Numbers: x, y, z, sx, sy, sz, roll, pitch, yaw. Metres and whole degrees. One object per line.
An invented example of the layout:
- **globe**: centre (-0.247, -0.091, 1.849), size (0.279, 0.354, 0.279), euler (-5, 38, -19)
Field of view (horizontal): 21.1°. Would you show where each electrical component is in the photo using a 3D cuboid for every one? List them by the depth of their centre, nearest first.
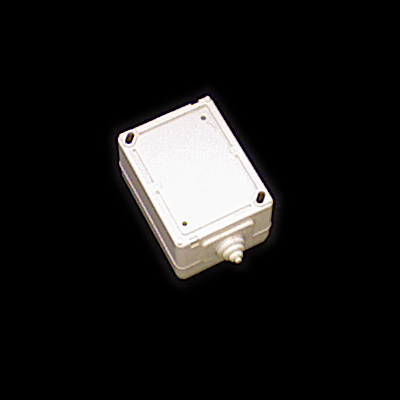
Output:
- **electrical component**: centre (0.000, 0.000, 0.626), size (0.062, 0.096, 0.060), euler (-25, -24, -12)
